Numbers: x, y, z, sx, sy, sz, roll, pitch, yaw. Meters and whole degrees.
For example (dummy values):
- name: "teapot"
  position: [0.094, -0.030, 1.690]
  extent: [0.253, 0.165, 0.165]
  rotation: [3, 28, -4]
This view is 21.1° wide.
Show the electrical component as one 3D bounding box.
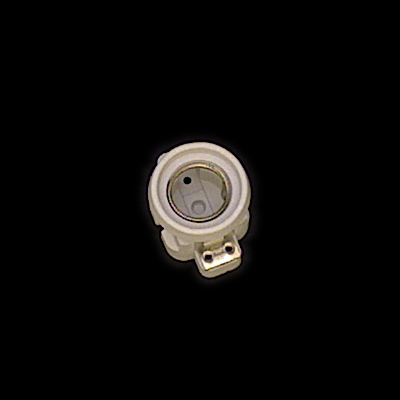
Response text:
- name: "electrical component"
  position: [0.000, 0.000, 0.628]
  extent: [0.058, 0.079, 0.056]
  rotation: [-21, -15, -6]
